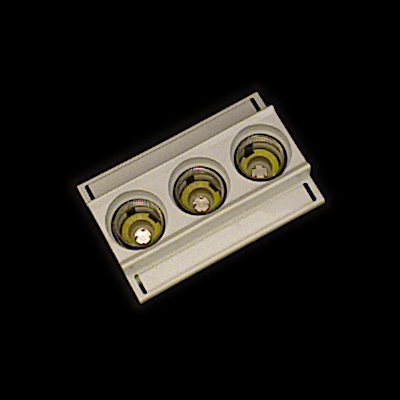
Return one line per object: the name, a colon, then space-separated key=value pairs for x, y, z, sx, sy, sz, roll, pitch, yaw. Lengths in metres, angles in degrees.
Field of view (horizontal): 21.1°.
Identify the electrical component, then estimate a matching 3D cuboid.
electrical component: x=0.000 y=0.000 z=0.637 sx=0.122 sy=0.078 sz=0.063 roll=-28 pitch=-16 yaw=-7
